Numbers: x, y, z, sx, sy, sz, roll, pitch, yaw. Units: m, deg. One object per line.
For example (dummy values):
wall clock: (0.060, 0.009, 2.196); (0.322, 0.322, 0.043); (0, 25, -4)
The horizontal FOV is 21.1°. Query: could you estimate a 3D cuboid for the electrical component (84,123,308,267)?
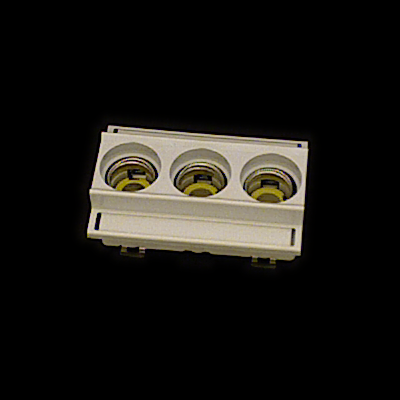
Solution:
electrical component: (0.000, 0.000, 0.638); (0.121, 0.078, 0.063); (5, -35, 4)
